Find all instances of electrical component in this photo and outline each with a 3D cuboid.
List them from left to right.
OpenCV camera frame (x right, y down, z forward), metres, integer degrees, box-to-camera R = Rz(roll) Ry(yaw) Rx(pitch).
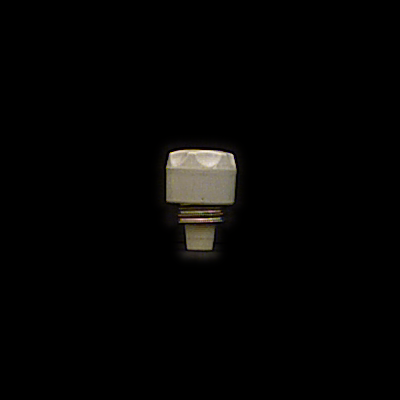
[{"bbox_3d":[0.000,0.000,0.656,0.043,0.062,0.043,1,2,0],"label":"electrical component"}]
